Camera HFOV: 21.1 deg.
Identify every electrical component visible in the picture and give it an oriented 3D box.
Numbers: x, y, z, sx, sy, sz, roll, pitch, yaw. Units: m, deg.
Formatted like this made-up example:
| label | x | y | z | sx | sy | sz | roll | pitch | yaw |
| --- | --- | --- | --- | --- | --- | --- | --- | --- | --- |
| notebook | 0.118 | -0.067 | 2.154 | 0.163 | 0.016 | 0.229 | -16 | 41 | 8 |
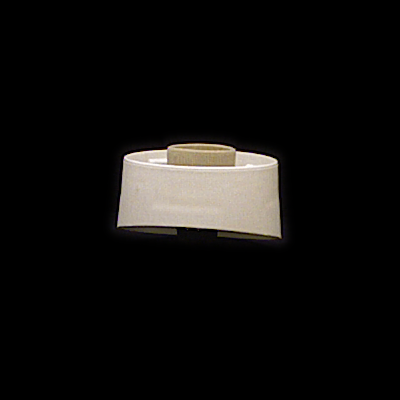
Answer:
| label | x | y | z | sx | sy | sz | roll | pitch | yaw |
| --- | --- | --- | --- | --- | --- | --- | --- | --- | --- |
| electrical component | 0.000 | 0.000 | 0.643 | 0.099 | 0.064 | 0.098 | 1 | 10 | 0 |
